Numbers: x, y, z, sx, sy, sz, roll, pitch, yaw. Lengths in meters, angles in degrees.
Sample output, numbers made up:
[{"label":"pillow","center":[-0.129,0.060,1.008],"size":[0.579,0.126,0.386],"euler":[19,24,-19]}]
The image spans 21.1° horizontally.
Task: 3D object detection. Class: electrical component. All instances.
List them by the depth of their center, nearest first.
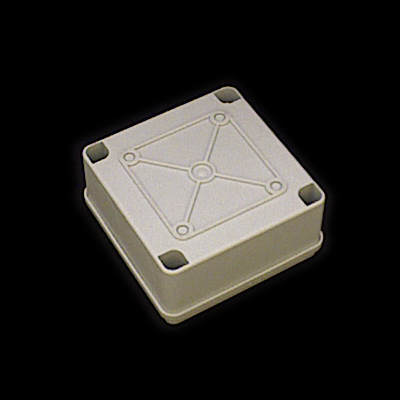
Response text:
[{"label":"electrical component","center":[0.000,0.000,0.631],"size":[0.109,0.108,0.056],"euler":[-25,-34,-19]}]
